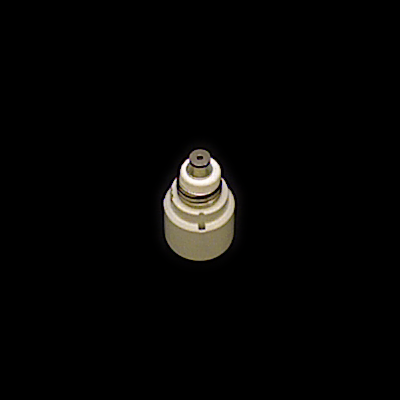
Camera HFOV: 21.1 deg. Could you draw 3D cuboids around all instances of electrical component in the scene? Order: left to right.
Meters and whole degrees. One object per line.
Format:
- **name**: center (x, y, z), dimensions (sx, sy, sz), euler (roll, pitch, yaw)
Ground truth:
- **electrical component**: center (0.000, 0.000, 0.622), dimensions (0.040, 0.040, 0.079), euler (0, -37, -1)
